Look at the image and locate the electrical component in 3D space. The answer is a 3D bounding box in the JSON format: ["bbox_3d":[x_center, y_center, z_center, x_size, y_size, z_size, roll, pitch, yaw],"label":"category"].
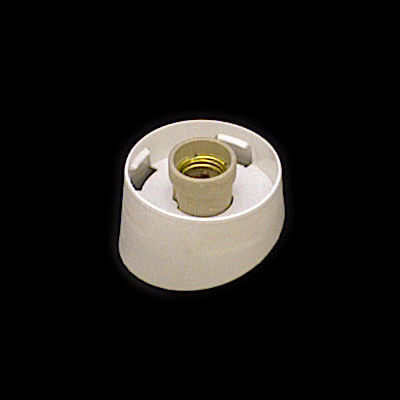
[{"bbox_3d":[0.000,0.000,0.630,0.099,0.065,0.098,0,42,0],"label":"electrical component"}]
